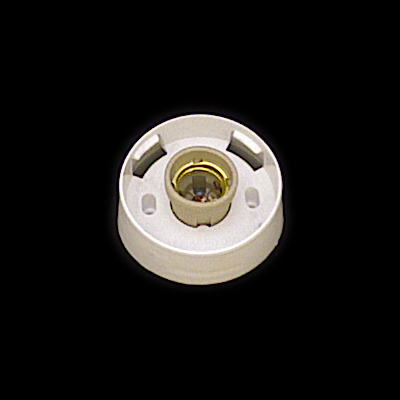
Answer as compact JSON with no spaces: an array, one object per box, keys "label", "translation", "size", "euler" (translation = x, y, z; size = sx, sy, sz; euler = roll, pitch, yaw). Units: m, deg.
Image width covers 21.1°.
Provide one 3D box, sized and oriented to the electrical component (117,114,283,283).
[{"label":"electrical component","translation":[0.000,0.000,0.625],"size":[0.099,0.099,0.064],"euler":[0,-28,0]}]
